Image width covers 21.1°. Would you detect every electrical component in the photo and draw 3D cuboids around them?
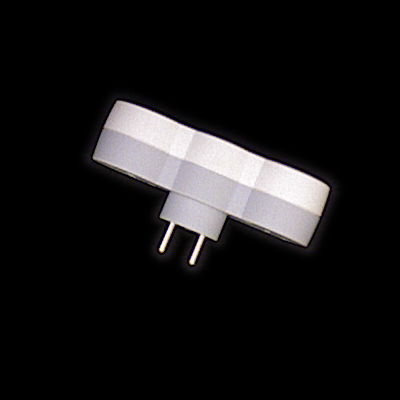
[{"bbox_3d":[0.000,0.000,0.632,0.138,0.074,0.052,22,-4,2],"label":"electrical component"}]
